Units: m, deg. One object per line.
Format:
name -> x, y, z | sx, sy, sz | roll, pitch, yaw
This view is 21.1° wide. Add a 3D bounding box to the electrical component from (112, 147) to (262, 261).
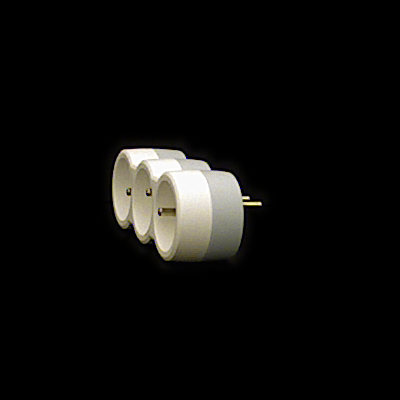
electrical component -> 0.000, 0.000, 0.651 | 0.074, 0.052, 0.136 | -1, 11, -20
